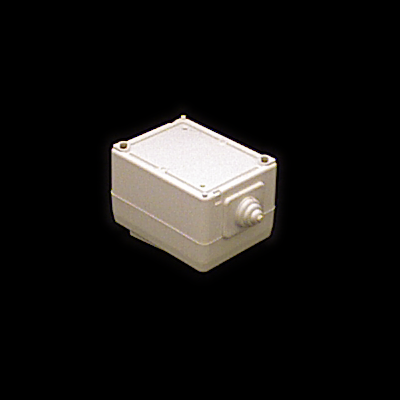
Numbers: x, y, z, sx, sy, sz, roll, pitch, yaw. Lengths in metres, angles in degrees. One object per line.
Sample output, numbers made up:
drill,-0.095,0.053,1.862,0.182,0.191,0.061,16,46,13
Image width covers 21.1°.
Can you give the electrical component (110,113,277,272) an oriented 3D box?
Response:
electrical component,0.000,0.000,0.632,0.095,0.061,0.061,29,41,36
